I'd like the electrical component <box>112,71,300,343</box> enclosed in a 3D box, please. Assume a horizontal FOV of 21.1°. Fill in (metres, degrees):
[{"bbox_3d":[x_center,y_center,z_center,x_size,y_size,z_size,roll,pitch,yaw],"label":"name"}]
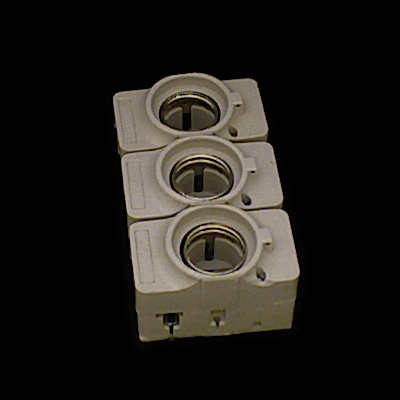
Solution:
[{"bbox_3d":[0.000,0.000,0.634,0.089,0.148,0.062,-6,-37,-6],"label":"electrical component"}]
